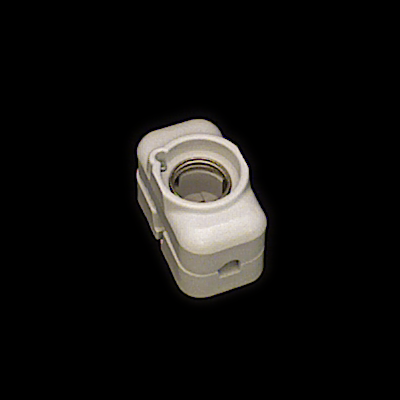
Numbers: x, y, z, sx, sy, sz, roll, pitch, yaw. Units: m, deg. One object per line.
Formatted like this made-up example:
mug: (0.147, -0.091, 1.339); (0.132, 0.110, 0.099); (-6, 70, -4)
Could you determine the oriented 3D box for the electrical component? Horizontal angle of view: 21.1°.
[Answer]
electrical component: (0.000, 0.000, 0.635); (0.054, 0.094, 0.059); (-18, -35, -14)
